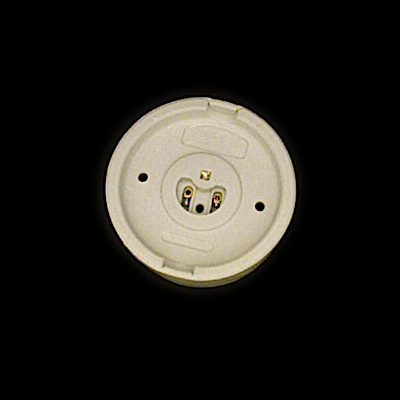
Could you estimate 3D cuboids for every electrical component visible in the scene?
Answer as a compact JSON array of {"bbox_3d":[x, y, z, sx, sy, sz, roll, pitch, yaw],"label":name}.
[{"bbox_3d":[0.000,0.000,0.635,0.108,0.108,0.060,0,-16,0],"label":"electrical component"}]
